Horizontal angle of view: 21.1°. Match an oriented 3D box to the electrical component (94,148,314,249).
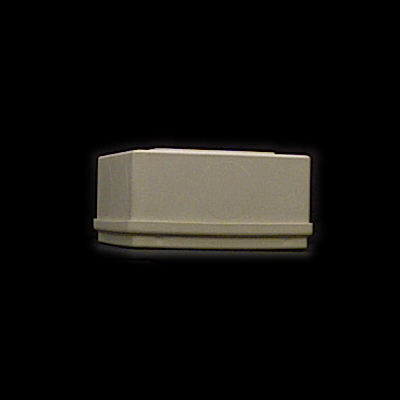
[{"bbox_3d":[0.000,0.000,0.646,0.109,0.056,0.108,1,0,-17],"label":"electrical component"}]
